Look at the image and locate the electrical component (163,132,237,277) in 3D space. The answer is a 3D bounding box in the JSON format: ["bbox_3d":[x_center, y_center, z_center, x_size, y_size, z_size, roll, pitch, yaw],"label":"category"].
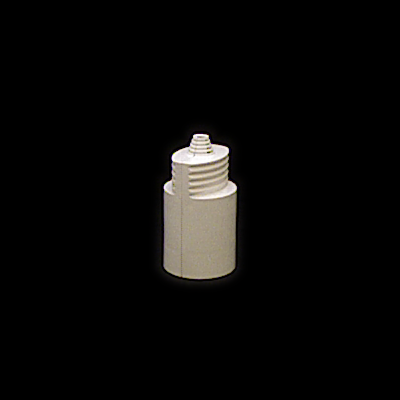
[{"bbox_3d":[0.000,0.000,0.636,0.043,0.082,0.042,1,21,0],"label":"electrical component"}]
